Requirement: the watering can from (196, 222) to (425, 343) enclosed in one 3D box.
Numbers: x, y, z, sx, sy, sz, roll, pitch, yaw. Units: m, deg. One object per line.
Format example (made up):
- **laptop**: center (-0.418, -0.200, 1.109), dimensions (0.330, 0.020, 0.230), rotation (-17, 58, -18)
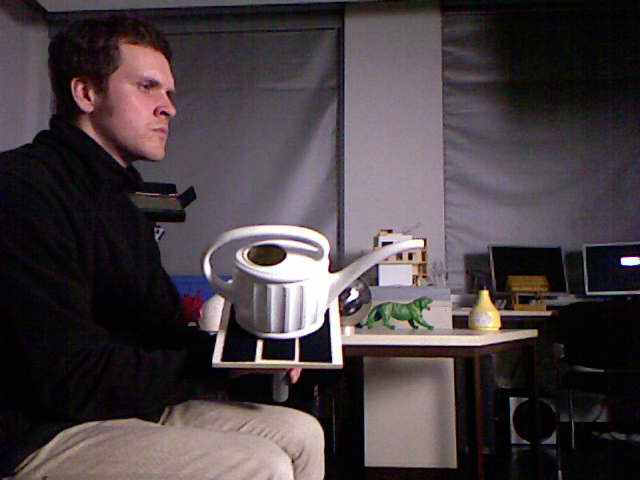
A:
- **watering can**: center (-0.019, 0.067, 0.820), dimensions (0.348, 0.219, 0.107), rotation (2, 39, 0)
